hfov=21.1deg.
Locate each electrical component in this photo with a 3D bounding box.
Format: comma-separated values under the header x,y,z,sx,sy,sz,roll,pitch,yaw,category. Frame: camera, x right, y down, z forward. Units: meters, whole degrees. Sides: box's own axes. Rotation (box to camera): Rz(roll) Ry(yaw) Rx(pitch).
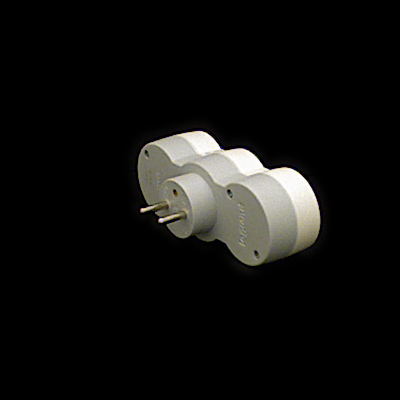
x,y,z,sx,sy,sz,roll,pitch,yaw,category
0.000,0.000,0.646,0.074,0.053,0.135,-16,27,-34,electrical component
